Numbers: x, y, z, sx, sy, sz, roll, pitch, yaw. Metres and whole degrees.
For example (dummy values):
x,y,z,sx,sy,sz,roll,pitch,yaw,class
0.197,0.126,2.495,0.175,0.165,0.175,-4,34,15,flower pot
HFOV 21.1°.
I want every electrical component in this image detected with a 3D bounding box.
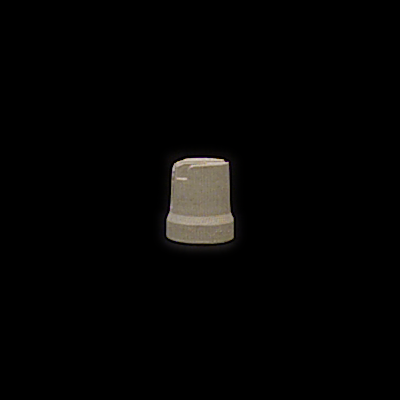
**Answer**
x,y,z,sx,sy,sz,roll,pitch,yaw,class
0.000,0.000,0.646,0.040,0.046,0.040,1,11,0,electrical component
